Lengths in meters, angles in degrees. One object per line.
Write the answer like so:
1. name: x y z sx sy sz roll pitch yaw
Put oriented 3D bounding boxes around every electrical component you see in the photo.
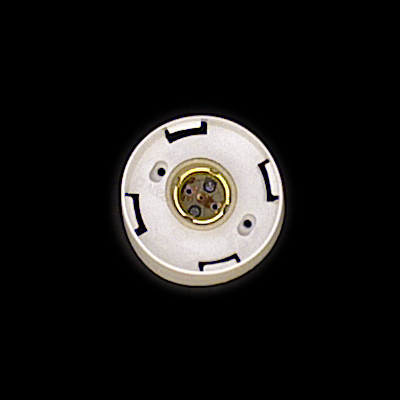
1. electrical component: 0.000 0.000 0.626 0.099 0.099 0.064 0 -6 0
